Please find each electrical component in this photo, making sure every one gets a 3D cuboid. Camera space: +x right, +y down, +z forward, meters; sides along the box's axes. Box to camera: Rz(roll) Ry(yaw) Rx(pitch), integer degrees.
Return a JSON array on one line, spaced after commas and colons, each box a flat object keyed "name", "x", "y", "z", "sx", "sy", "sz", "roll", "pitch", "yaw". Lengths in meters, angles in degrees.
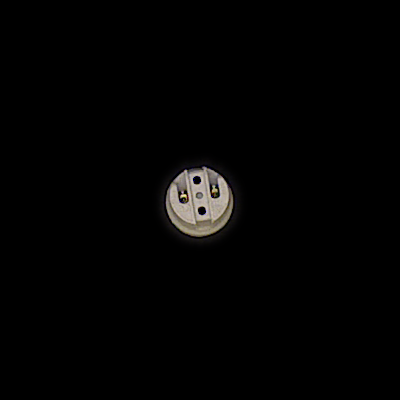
[{"name": "electrical component", "x": 0.000, "y": 0.000, "z": 0.635, "sx": 0.040, "sy": 0.040, "sz": 0.046, "roll": 0, "pitch": -6, "yaw": 0}]
